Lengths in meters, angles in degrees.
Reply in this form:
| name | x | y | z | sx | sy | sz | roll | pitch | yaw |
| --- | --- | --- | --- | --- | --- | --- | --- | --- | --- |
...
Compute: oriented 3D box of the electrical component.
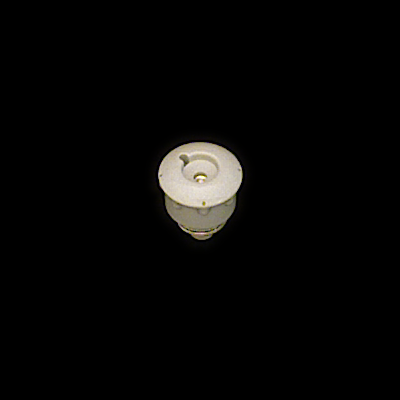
| name | x | y | z | sx | sy | sz | roll | pitch | yaw |
| --- | --- | --- | --- | --- | --- | --- | --- | --- | --- |
| electrical component | 0.000 | 0.000 | 0.634 | 0.048 | 0.048 | 0.062 | 0 | -37 | 0 |
